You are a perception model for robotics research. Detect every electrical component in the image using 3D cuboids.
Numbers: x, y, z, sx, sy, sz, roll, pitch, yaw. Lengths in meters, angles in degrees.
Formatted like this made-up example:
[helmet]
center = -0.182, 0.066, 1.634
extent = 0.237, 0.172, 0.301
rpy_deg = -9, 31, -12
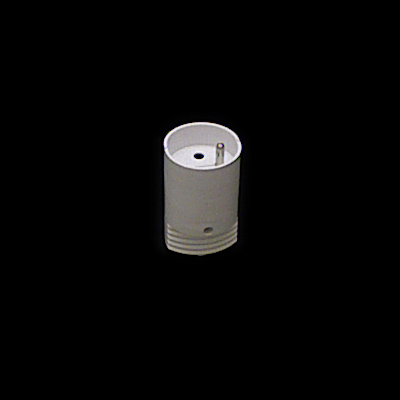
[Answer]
[electrical component]
center = 0.000, 0.000, 0.625
extent = 0.043, 0.082, 0.042
rpy_deg = 1, 42, -1
